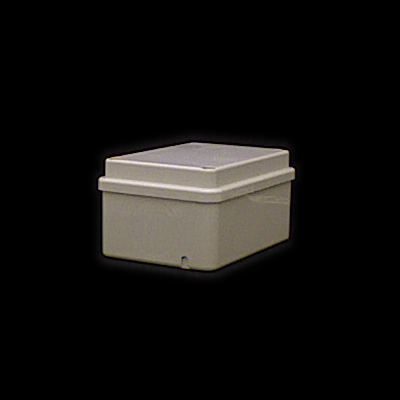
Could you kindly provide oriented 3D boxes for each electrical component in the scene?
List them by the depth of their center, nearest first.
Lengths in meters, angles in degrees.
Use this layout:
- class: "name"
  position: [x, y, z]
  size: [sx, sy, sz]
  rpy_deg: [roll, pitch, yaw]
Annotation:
- class: "electrical component"
  position: [0.000, 0.000, 0.645]
  size: [0.078, 0.057, 0.113]
  rpy_deg: [7, 12, 27]
